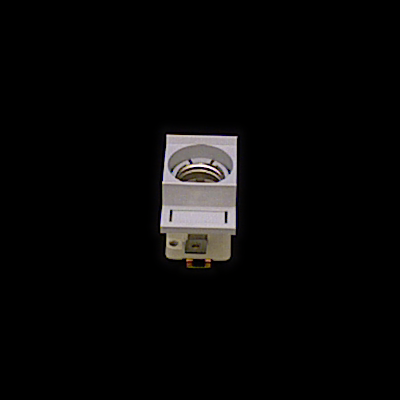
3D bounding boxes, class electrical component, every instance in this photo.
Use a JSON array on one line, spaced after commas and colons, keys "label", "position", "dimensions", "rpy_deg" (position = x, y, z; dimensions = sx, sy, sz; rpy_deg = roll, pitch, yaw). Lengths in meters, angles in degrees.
[{"label": "electrical component", "position": [0.000, 0.000, 0.627], "dimensions": [0.042, 0.064, 0.080], "rpy_deg": [3, 41, 1]}]
